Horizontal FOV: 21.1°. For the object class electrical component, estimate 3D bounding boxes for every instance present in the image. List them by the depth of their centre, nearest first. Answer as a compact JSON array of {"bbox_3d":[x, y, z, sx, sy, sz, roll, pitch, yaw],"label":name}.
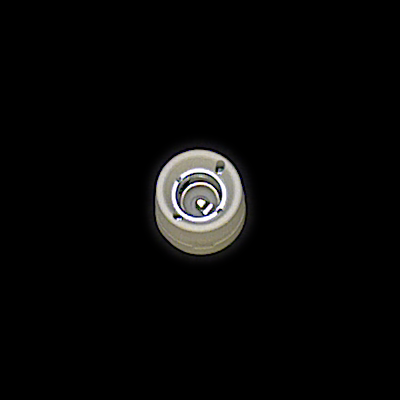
[{"bbox_3d":[0.000,0.000,0.632,0.055,0.056,0.047,0,-16,1],"label":"electrical component"}]
